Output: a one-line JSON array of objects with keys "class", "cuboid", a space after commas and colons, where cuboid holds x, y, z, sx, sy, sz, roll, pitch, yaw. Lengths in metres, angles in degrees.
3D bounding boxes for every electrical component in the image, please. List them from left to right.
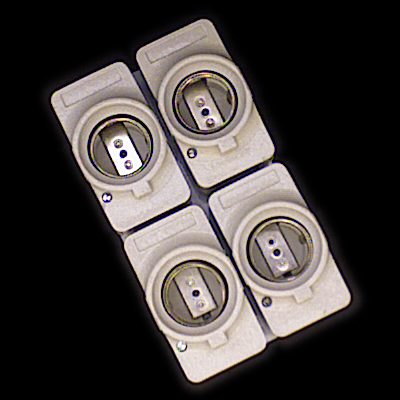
[{"class": "electrical component", "cuboid": [0.000, 0.000, 0.626, 0.106, 0.186, 0.060, -27, -6, -3]}]
